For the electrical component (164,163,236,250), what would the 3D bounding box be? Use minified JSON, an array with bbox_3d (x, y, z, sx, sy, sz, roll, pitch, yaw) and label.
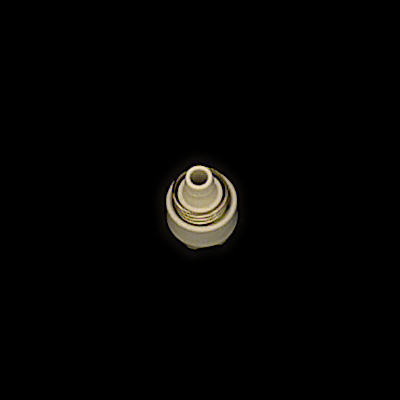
[{"bbox_3d":[0.000,0.000,0.634,0.043,0.043,0.062,0,-26,2],"label":"electrical component"}]
